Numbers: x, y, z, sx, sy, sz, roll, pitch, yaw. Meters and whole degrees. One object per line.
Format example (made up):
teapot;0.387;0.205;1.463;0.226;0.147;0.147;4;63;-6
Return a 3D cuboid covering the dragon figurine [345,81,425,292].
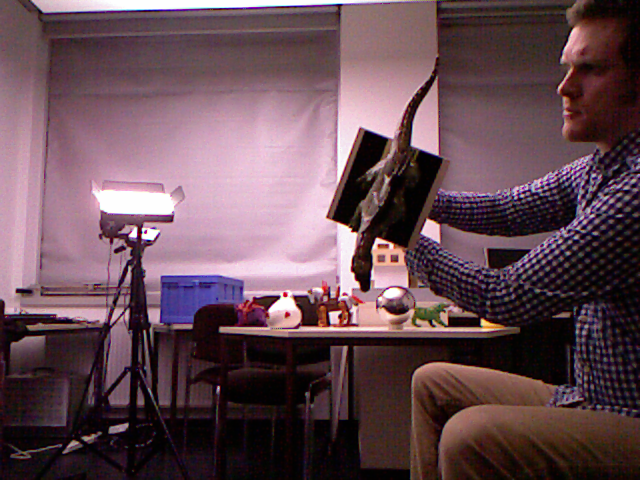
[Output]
dragon figurine;0.133;-0.103;0.966;0.123;0.408;0.246;16;13;-2
